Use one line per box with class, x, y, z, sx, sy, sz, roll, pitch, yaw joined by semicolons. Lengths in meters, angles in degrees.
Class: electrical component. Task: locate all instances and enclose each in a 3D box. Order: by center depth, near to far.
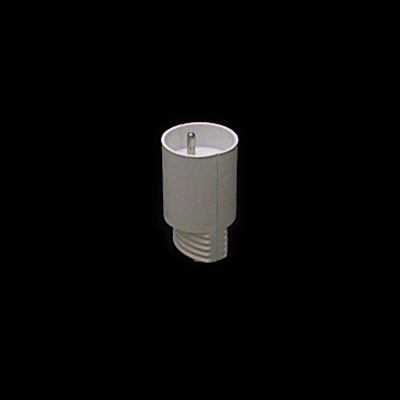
electrical component;0.000;0.000;0.628;0.043;0.082;0.042;1;31;0
